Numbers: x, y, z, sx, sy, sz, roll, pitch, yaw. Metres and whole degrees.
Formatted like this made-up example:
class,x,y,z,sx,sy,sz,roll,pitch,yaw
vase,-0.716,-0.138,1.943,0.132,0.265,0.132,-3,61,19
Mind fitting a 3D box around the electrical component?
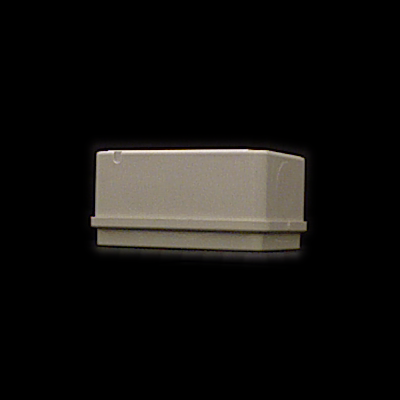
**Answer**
class,x,y,z,sx,sy,sz,roll,pitch,yaw
electrical component,0.000,0.000,0.649,0.113,0.057,0.078,2,0,25
